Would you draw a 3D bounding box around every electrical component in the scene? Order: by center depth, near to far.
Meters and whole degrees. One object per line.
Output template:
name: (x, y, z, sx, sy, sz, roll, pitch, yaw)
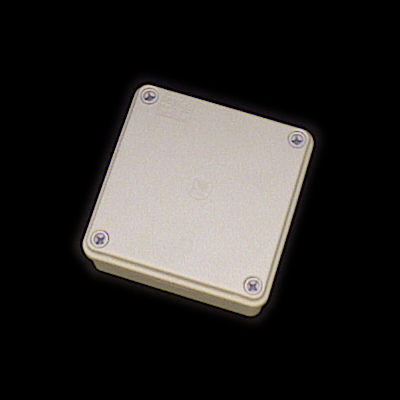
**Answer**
electrical component: (0.000, 0.000, 0.629, 0.109, 0.109, 0.056, 17, -16, 5)
